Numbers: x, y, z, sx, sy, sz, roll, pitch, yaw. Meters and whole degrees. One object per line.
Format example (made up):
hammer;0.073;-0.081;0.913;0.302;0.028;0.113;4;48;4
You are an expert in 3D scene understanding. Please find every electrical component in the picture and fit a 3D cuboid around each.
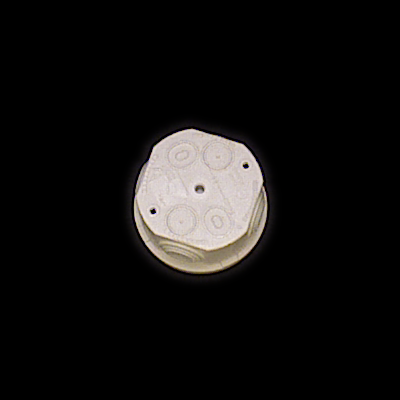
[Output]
electrical component;0.000;0.000;0.631;0.080;0.080;0.050;0;-17;0
